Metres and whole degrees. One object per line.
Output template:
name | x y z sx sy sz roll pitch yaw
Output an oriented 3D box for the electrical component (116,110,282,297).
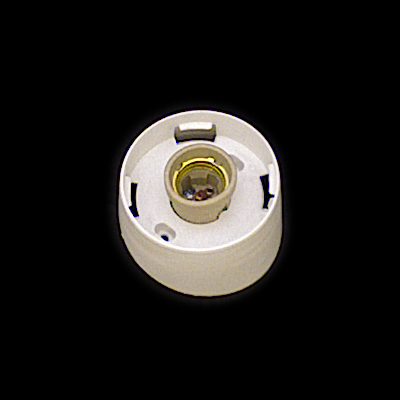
electrical component | 0.000 0.000 0.625 0.099 0.099 0.064 0 -27 0
